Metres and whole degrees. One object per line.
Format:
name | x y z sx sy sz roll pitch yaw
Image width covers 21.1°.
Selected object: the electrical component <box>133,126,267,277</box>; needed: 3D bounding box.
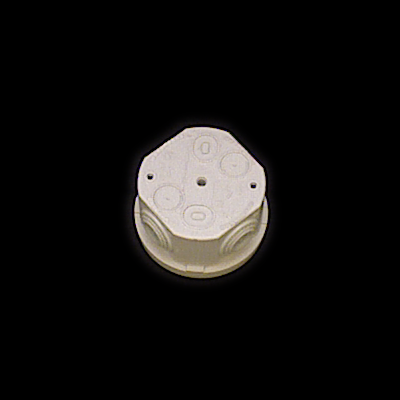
electrical component | 0.000 0.000 0.631 0.080 0.080 0.050 0 -27 -1
